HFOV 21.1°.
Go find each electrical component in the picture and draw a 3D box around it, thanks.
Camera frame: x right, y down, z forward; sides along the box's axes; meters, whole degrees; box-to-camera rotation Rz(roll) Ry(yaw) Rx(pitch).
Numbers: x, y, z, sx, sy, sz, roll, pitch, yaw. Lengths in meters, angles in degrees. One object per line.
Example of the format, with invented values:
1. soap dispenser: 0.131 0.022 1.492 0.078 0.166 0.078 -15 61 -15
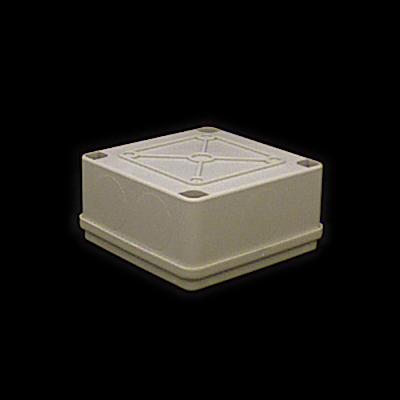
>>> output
1. electrical component: 0.000 0.000 0.642 0.108 0.057 0.107 -16 26 -39
